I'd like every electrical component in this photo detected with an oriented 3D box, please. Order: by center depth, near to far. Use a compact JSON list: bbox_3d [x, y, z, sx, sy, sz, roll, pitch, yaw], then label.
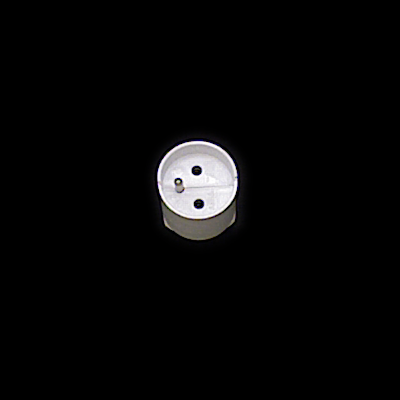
[{"bbox_3d":[0.000,0.000,0.615,0.043,0.043,0.080,0,-17,1],"label":"electrical component"}]
